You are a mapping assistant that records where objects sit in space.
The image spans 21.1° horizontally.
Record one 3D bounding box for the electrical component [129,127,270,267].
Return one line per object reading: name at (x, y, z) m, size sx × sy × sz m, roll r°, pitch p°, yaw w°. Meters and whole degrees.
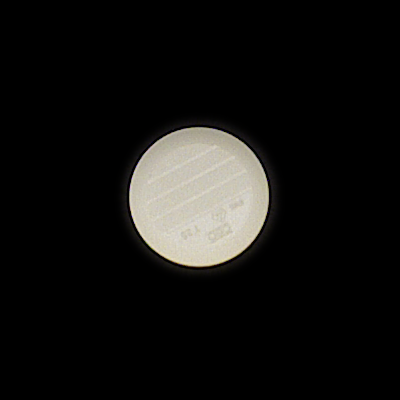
electrical component at (0.000, 0.000, 0.631) m, size 0.080 × 0.080 × 0.050 m, roll 0°, pitch -7°, yaw 0°
